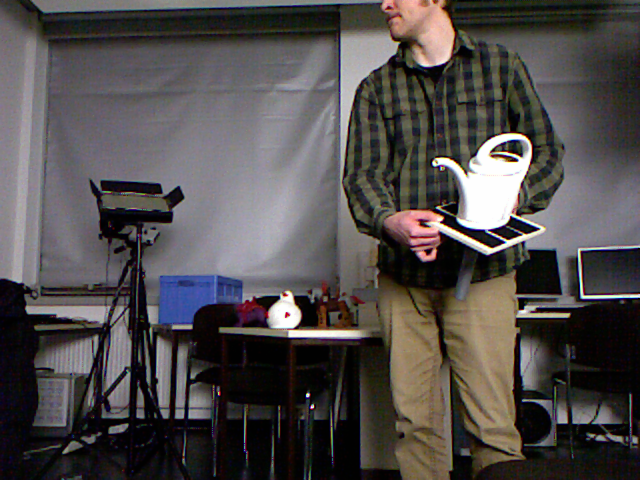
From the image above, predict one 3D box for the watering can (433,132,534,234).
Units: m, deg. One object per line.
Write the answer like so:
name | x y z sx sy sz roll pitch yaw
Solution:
watering can | 0.340 -0.114 1.099 0.351 0.220 0.106 -17 36 -34
